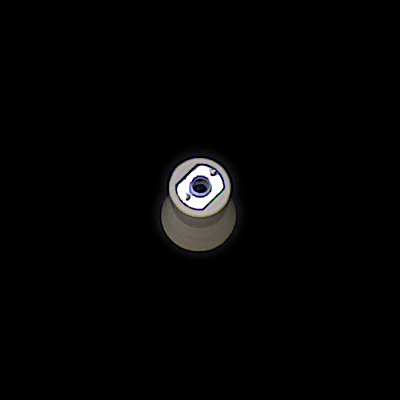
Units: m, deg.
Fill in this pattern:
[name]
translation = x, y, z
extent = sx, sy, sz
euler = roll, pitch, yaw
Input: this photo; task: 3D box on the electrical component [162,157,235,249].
[electrical component]
translation = 0.000, 0.000, 0.624
extent = 0.044, 0.044, 0.065
euler = 0, -16, -1
